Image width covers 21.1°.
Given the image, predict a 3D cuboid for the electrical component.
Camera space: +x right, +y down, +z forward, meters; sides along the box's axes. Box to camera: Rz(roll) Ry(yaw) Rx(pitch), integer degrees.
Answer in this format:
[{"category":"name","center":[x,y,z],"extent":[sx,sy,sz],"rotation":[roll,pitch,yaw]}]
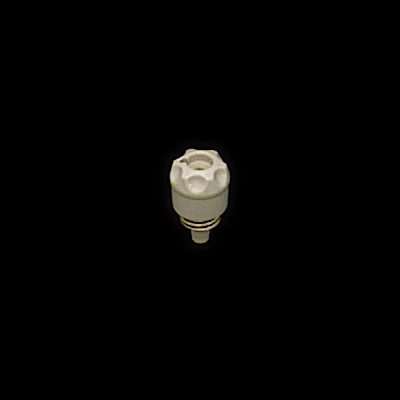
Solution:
[{"category":"electrical component","center":[0.000,0.000,0.639],"extent":[0.035,0.062,0.035],"rotation":[0,42,0]}]
